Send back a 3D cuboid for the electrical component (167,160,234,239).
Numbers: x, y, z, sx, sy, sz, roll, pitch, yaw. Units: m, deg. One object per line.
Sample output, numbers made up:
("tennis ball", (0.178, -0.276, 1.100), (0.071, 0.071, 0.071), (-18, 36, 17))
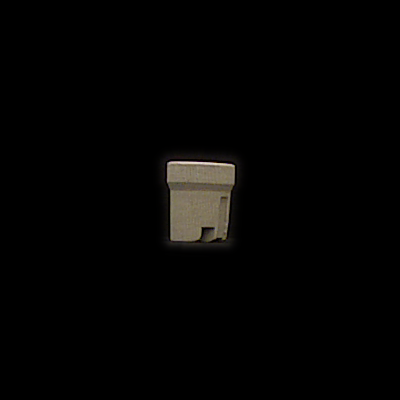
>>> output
("electrical component", (0.000, 0.000, 0.648), (0.040, 0.046, 0.040), (1, 1, 0))
